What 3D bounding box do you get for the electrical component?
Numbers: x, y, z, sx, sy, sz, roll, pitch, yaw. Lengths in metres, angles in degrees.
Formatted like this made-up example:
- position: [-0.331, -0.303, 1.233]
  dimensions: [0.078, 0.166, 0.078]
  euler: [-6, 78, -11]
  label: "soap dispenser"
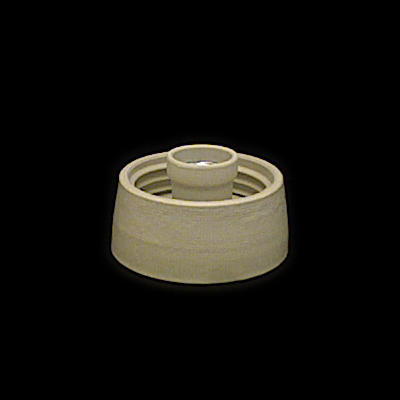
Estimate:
- position: [0.000, 0.000, 0.645]
  dimensions: [0.108, 0.061, 0.106]
  euler: [1, 21, 0]
  label: "electrical component"
